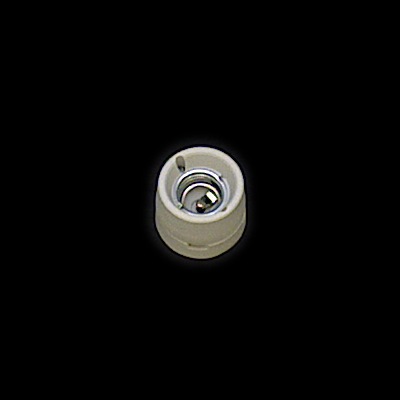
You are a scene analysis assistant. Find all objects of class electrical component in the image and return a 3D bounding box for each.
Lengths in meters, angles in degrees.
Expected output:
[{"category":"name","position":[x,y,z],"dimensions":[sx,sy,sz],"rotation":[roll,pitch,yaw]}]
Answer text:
[{"category":"electrical component","position":[0.000,0.000,0.632],"dimensions":[0.055,0.056,0.047],"rotation":[0,-26,0]}]
